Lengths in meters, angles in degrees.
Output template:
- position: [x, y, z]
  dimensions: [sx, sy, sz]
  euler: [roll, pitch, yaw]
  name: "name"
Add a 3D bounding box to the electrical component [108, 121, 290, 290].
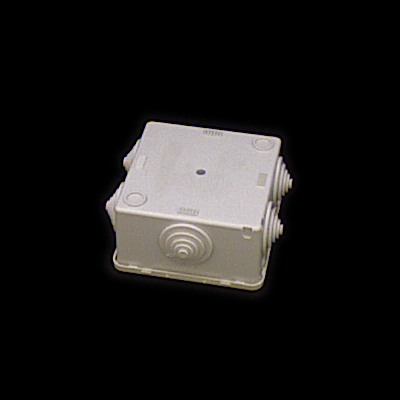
- position: [0.000, 0.000, 0.633]
  dimensions: [0.099, 0.049, 0.099]
  euler: [8, 43, 8]
  name: "electrical component"
